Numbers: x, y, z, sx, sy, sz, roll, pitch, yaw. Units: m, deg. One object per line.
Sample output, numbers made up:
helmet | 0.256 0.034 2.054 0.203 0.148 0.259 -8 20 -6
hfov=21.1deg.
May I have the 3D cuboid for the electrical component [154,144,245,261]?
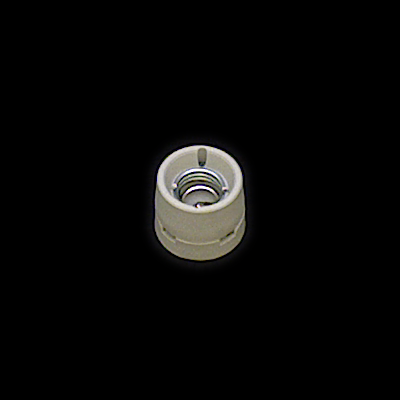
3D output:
electrical component | 0.000 0.000 0.633 0.055 0.055 0.047 0 -36 0
